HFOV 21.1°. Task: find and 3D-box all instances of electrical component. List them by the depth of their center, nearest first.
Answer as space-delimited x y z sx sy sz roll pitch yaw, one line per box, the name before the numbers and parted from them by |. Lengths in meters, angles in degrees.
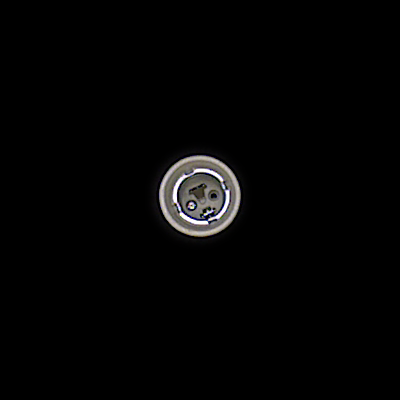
electrical component | 0.000 0.000 0.624 0.044 0.044 0.065 0 -5 1
